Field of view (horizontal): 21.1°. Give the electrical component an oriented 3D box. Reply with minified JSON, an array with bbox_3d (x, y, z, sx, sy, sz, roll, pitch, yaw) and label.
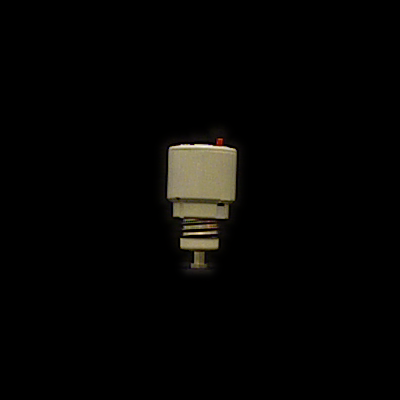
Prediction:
[{"bbox_3d":[0.000,0.000,0.647,0.040,0.078,0.040,2,1,0],"label":"electrical component"}]
